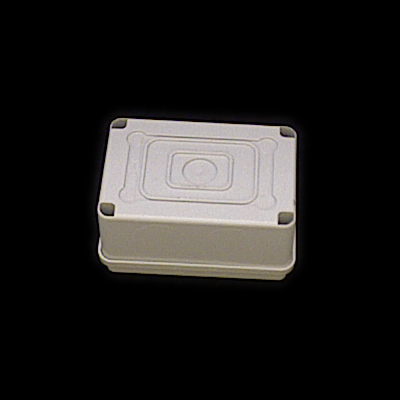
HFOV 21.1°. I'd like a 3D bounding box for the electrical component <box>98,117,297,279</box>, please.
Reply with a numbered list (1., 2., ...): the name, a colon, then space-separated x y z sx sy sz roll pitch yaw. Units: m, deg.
1. electrical component: 0.000 0.000 0.629 0.113 0.078 0.057 3 -38 2
